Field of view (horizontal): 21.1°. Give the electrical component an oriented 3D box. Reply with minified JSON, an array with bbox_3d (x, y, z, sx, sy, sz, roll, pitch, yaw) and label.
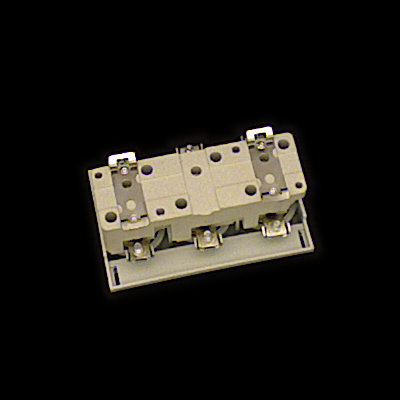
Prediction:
[{"bbox_3d":[0.000,0.000,0.632,0.122,0.078,0.063,-11,-26,-6],"label":"electrical component"}]
